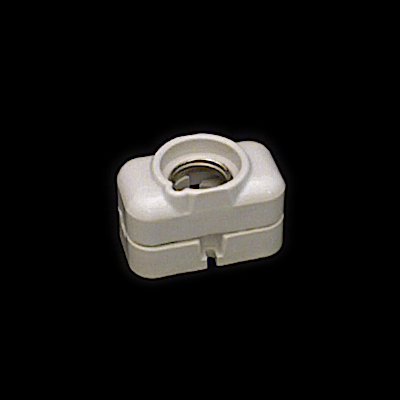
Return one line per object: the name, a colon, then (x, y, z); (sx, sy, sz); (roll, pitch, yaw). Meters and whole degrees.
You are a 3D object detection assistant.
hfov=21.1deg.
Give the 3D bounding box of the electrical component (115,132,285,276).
electrical component: (0.000, 0.000, 0.637); (0.095, 0.060, 0.053); (-10, 43, -11)
